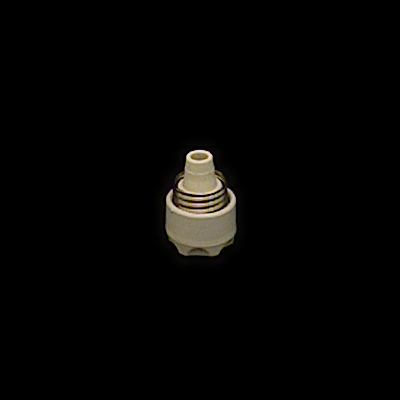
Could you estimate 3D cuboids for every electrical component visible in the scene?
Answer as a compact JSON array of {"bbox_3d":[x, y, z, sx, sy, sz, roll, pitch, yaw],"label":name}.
[{"bbox_3d":[0.000,0.000,0.641,0.043,0.063,0.043,0,32,1],"label":"electrical component"}]
